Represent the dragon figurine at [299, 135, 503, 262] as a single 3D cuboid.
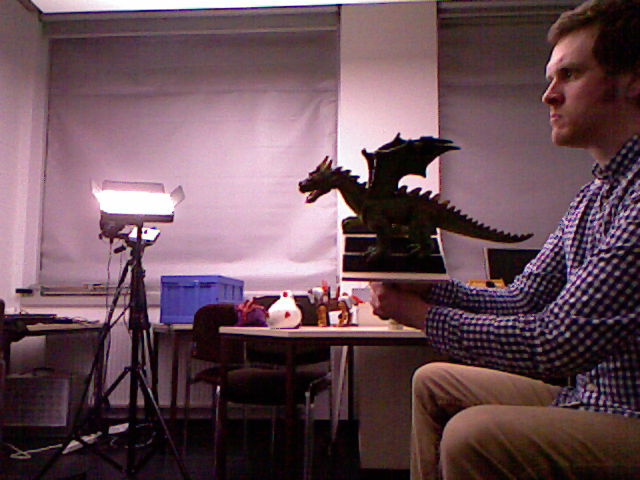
[{"bbox_3d":[0.165,-0.084,0.967,0.411,0.125,0.237,-2,-45,-3],"label":"dragon figurine"}]
